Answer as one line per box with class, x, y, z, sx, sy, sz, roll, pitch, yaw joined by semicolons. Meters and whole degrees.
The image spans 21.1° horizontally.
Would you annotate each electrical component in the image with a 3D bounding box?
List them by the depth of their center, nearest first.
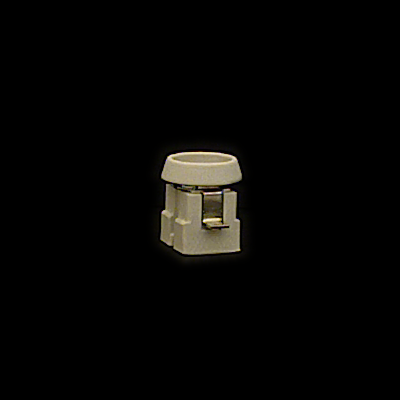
electrical component;0.000;0.000;0.651;0.049;0.056;0.065;-6;13;-21
